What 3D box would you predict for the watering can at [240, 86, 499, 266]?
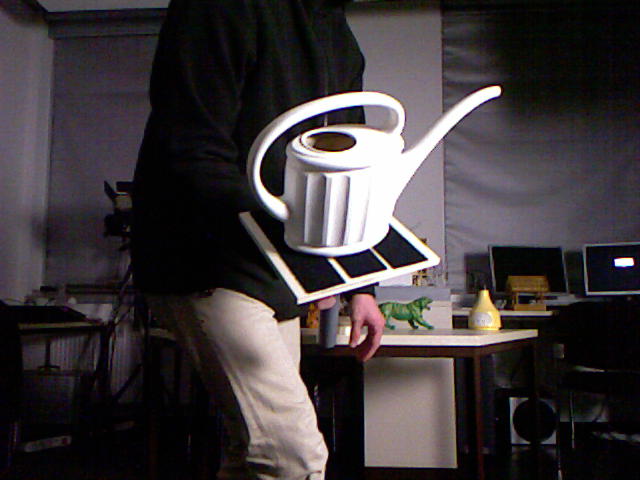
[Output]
[{"bbox_3d":[0.069,-0.086,0.655,0.349,0.219,0.106,-13,42,-21],"label":"watering can"}]
